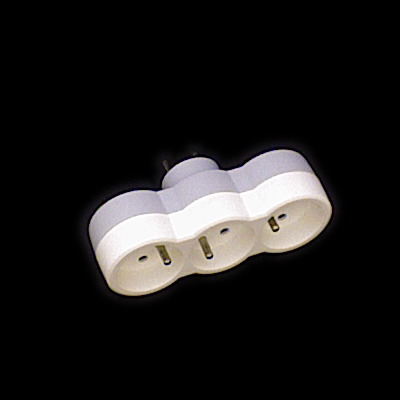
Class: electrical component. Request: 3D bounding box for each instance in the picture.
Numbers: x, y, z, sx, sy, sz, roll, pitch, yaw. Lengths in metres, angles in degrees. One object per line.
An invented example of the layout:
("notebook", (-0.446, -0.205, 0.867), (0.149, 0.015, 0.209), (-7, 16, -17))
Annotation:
("electrical component", (0.000, 0.000, 0.630), (0.138, 0.073, 0.052), (-17, -37, -12))
